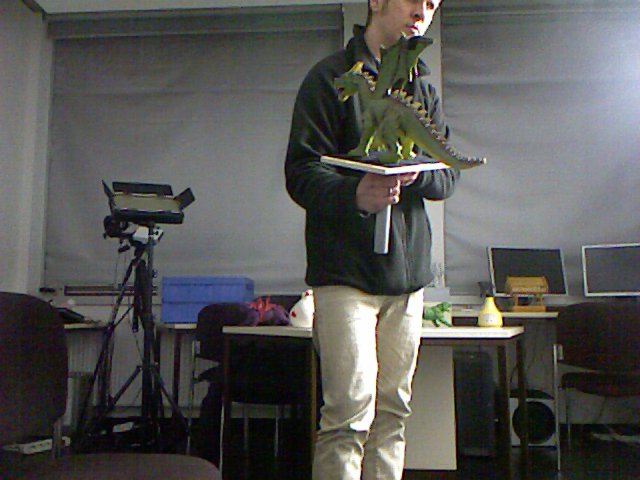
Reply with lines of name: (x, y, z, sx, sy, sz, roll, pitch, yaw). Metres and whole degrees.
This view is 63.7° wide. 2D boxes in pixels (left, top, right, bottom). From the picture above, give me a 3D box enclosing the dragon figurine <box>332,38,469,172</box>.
dragon figurine: (0.162, -0.289, 1.061, 0.123, 0.240, 0.414, -9, 21, -36)
